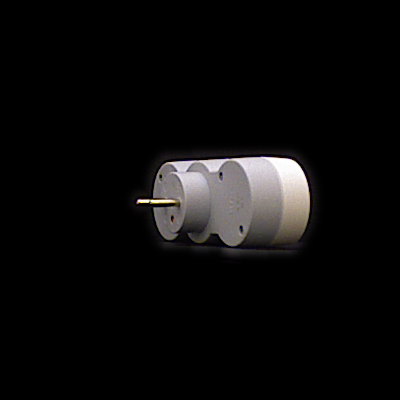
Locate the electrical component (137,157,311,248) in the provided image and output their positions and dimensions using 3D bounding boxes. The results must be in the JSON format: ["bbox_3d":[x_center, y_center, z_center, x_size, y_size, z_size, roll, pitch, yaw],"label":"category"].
[{"bbox_3d":[0.000,0.000,0.647,0.074,0.052,0.138,-1,2,-26],"label":"electrical component"}]
